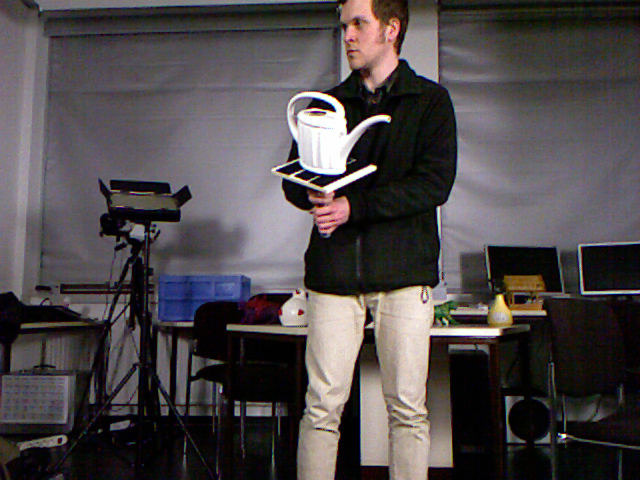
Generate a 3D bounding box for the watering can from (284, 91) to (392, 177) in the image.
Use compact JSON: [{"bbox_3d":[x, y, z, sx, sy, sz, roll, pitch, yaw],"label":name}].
[{"bbox_3d":[0.034,-0.261,1.321,0.351,0.219,0.105,25,41,37],"label":"watering can"}]
